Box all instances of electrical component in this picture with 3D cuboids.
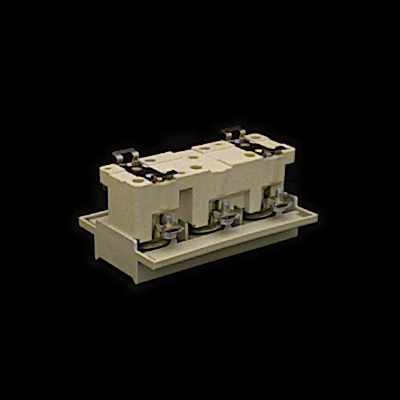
[{"bbox_3d":[0.000,0.000,0.644,0.121,0.064,0.077,-15,27,-35],"label":"electrical component"}]
